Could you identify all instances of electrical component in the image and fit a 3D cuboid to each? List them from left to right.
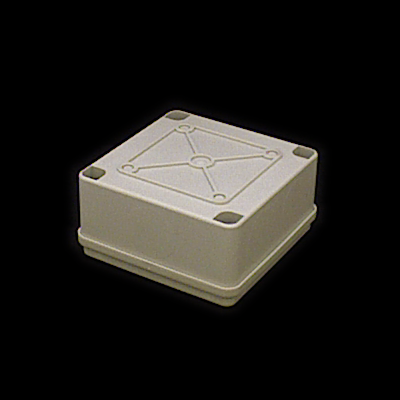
[{"bbox_3d":[0.000,0.000,0.637,0.108,0.057,0.108,19,35,26],"label":"electrical component"}]
